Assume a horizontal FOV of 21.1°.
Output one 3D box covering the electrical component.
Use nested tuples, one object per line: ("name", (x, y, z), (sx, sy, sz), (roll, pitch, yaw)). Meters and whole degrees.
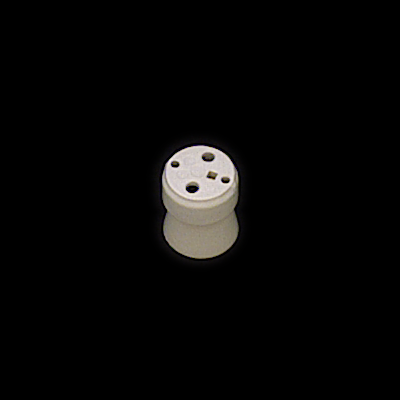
("electrical component", (0.000, 0.000, 0.629), (0.045, 0.044, 0.055), (0, -37, 0))
